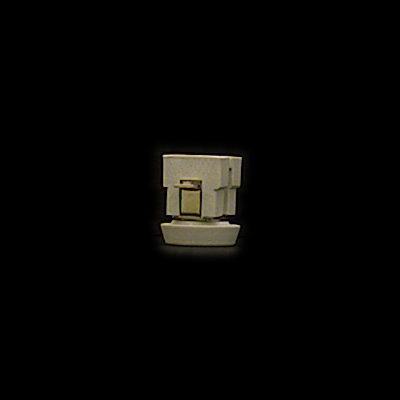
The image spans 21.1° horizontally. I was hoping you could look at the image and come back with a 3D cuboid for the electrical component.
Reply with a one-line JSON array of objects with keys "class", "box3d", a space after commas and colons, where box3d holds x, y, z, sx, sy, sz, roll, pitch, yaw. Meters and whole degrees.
[{"class": "electrical component", "box3d": [0.000, 0.000, 0.657, 0.048, 0.055, 0.067, 3, 3, 19]}]
